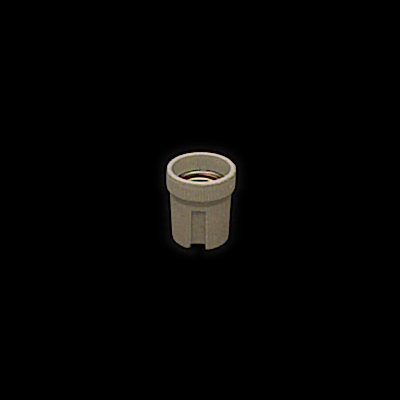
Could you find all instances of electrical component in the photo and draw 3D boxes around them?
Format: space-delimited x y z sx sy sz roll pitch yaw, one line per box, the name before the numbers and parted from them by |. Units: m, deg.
electrical component | 0.000 0.000 0.638 0.040 0.047 0.039 1 31 0
